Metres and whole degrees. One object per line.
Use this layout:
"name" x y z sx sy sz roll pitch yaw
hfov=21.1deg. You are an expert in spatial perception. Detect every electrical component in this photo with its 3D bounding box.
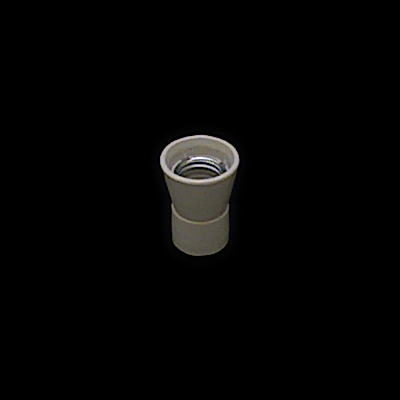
"electrical component" 0.000 0.000 0.630 0.044 0.066 0.044 0 41 0
